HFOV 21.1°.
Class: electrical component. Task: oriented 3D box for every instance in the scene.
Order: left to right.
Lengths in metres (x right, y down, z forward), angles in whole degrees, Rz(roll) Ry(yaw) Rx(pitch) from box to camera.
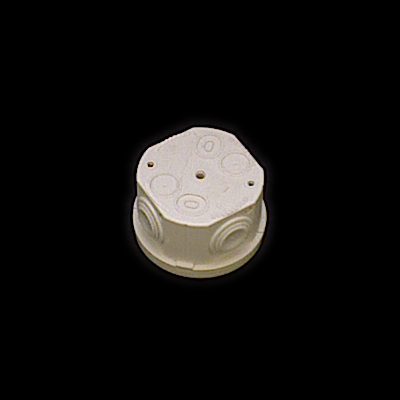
[{"bbox_3d":[0.000,0.000,0.632,0.080,0.080,0.051,0,-38,-1],"label":"electrical component"}]
